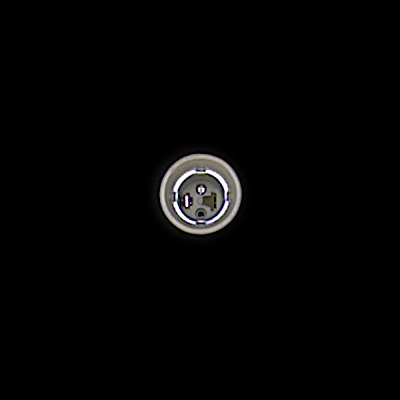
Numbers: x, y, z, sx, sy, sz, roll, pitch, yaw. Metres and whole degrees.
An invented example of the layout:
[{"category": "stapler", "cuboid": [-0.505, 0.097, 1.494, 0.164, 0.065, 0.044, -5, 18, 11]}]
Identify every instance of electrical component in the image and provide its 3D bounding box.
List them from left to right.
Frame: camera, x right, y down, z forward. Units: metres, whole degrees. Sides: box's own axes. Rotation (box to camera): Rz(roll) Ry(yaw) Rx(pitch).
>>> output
[{"category": "electrical component", "cuboid": [0.000, 0.000, 0.625, 0.044, 0.044, 0.065, 0, -7, 1]}]
